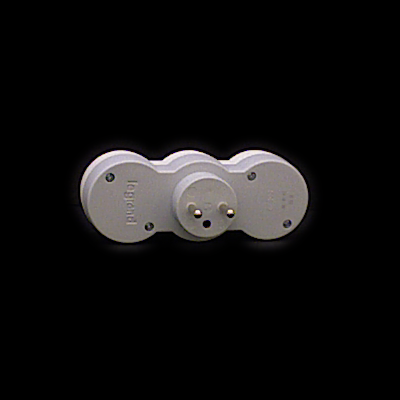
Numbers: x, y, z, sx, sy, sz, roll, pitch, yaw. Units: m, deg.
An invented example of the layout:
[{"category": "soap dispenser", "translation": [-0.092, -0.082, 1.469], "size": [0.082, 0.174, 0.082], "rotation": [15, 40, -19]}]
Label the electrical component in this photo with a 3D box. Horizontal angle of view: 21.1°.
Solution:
[{"category": "electrical component", "translation": [0.000, 0.000, 0.646], "size": [0.138, 0.052, 0.073], "rotation": [0, 13, -14]}]
